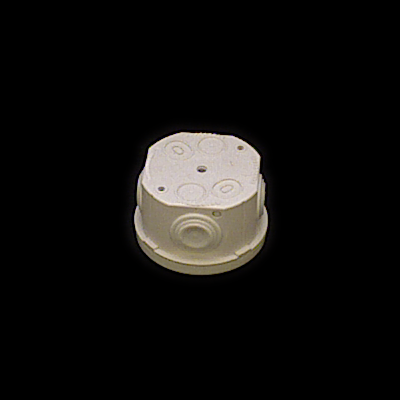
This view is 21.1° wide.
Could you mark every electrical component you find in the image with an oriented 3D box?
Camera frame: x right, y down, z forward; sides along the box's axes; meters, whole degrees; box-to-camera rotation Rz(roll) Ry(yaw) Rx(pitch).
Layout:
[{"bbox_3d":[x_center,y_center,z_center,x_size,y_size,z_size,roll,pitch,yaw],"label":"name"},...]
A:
[{"bbox_3d":[0.000,0.000,0.635,0.080,0.051,0.079,1,42,-1],"label":"electrical component"}]
